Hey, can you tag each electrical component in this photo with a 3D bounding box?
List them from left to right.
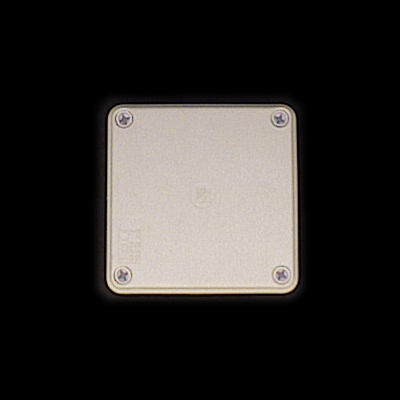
[{"bbox_3d":[0.000,0.000,0.631,0.109,0.109,0.056,0,-7,0],"label":"electrical component"}]
